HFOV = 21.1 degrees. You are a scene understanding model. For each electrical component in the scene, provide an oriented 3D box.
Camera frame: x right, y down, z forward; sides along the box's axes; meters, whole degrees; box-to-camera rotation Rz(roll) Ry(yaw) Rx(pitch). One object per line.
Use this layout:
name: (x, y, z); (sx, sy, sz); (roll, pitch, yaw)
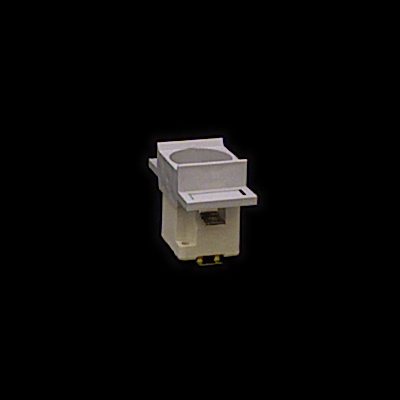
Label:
electrical component: (0.000, 0.000, 0.640); (0.042, 0.064, 0.079); (-7, 23, -17)
